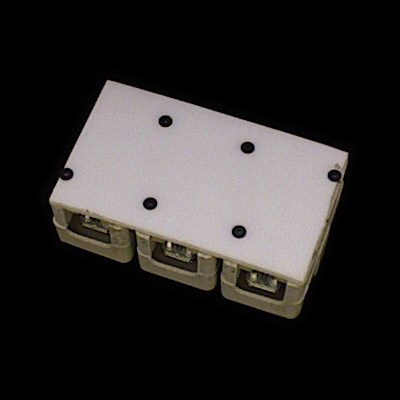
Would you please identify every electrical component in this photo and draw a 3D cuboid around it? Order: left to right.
[{"bbox_3d":[0.000,0.000,0.631,0.150,0.089,0.062,18,-26,9],"label":"electrical component"}]
